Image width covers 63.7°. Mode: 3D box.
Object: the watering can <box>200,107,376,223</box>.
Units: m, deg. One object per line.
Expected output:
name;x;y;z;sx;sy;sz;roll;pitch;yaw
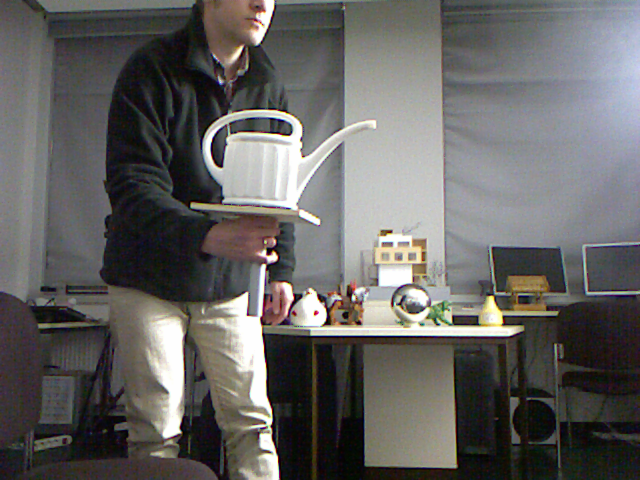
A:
watering can;-0.072;-0.144;1.001;0.348;0.224;0.104;4;3;10
